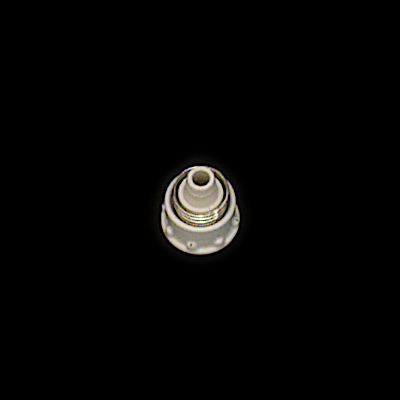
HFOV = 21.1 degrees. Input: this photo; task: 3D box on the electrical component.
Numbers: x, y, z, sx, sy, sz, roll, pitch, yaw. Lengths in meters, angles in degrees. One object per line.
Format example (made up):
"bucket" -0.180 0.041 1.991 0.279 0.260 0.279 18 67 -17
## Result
"electrical component" 0.000 0.000 0.633 0.048 0.048 0.062 0 -26 0
